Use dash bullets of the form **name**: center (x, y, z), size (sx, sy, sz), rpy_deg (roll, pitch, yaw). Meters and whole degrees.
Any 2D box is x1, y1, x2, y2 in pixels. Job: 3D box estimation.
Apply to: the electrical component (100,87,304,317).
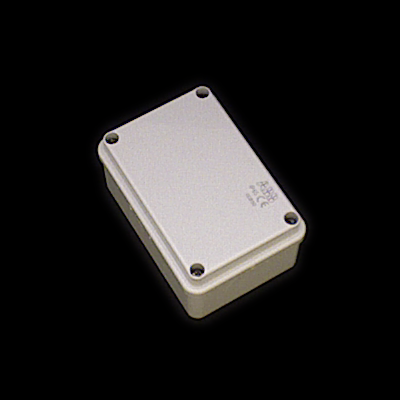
- **electrical component**: center (0.000, 0.000, 0.628), size (0.078, 0.113, 0.057), rpy_deg (-28, -24, -14)
